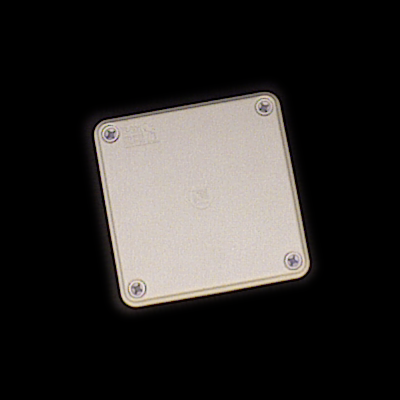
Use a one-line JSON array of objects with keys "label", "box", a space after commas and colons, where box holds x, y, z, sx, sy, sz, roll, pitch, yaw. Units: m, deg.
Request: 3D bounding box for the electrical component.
[{"label": "electrical component", "box": [0.000, 0.000, 0.630, 0.109, 0.109, 0.056, -10, -6, -1]}]
